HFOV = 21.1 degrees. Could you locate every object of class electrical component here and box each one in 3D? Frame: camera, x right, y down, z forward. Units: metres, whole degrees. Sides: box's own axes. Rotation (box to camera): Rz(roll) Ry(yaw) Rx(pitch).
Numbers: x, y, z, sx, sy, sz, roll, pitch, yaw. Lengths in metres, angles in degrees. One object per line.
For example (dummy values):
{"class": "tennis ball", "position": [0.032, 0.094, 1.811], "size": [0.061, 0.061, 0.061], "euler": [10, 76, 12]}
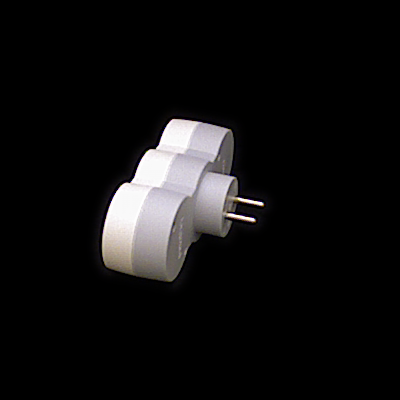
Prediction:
{"class": "electrical component", "position": [0.000, 0.000, 0.639], "size": [0.073, 0.053, 0.137], "euler": [12, 32, 13]}
